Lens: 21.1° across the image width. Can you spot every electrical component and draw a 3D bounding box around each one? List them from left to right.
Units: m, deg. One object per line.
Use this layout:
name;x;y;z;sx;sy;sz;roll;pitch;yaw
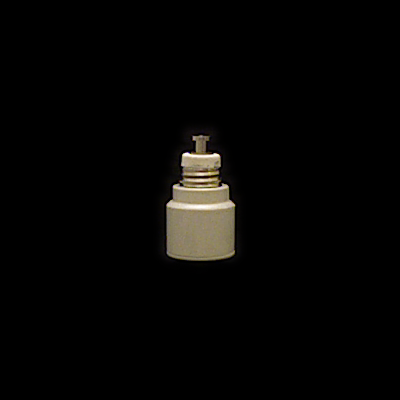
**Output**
electrical component;0.000;0.000;0.642;0.040;0.079;0.040;0;12;0
